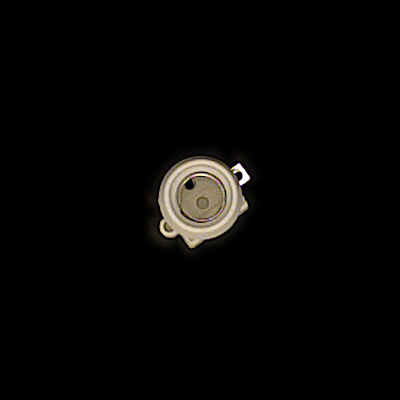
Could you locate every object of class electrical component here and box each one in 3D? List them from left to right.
[{"bbox_3d":[0.000,0.000,0.639,0.066,0.048,0.055,-37,-3,-3],"label":"electrical component"}]
